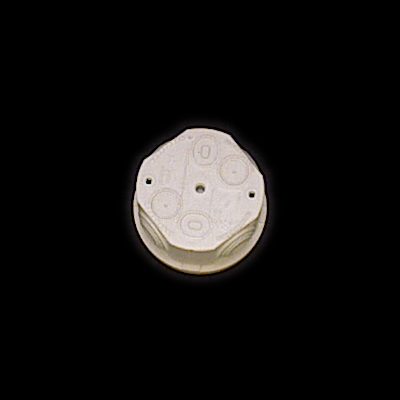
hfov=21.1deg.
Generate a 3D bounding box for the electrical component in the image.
[{"bbox_3d":[0.000,0.000,0.632,0.080,0.080,0.050,0,-17,-1],"label":"electrical component"}]
